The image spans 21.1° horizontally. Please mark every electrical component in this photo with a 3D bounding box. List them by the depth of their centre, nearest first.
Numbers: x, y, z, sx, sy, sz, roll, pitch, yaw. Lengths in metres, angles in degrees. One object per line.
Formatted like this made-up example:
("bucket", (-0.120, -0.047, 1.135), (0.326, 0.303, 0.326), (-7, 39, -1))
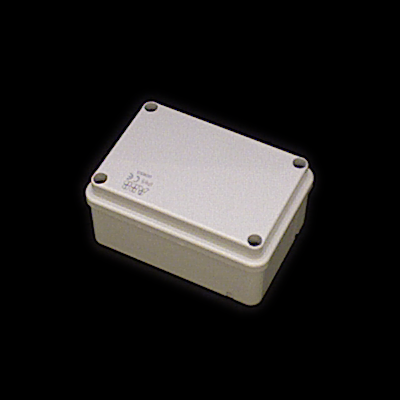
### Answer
("electrical component", (0.000, 0.000, 0.627), (0.113, 0.078, 0.057), (22, -35, 15))
